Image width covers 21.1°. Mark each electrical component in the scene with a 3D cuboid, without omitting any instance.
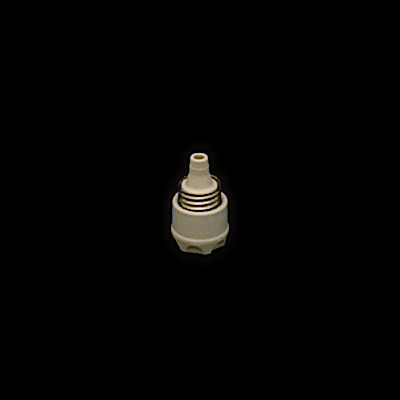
[{"bbox_3d":[0.000,0.000,0.645,0.035,0.062,0.034,0,31,1],"label":"electrical component"}]
